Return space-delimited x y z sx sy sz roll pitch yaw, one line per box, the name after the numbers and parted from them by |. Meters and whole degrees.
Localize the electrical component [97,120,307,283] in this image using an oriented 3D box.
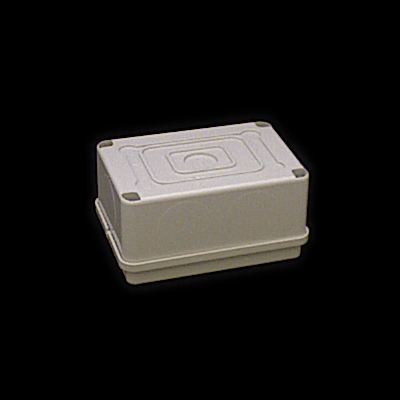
0.000 0.000 0.635 0.113 0.058 0.077 -9 33 -15 | electrical component
